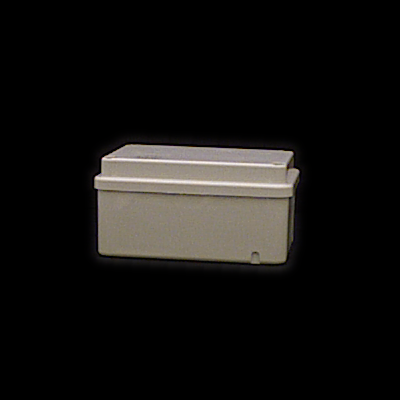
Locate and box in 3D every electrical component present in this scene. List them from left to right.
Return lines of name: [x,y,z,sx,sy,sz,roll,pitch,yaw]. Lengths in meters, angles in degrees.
electrical component: [0.000,0.000,0.641,0.113,0.057,0.077,3,11,8]
